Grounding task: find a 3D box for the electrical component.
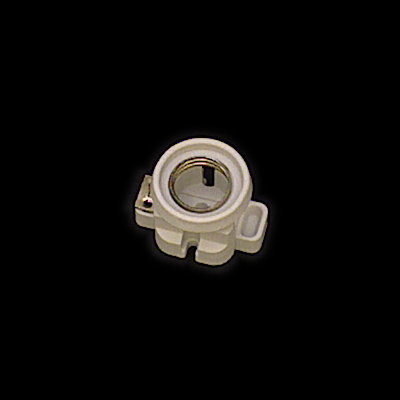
[{"bbox_3d":[0.000,0.000,0.628,0.078,0.058,0.057,14,-26,7],"label":"electrical component"}]
